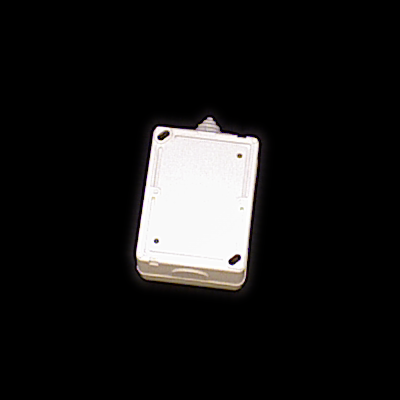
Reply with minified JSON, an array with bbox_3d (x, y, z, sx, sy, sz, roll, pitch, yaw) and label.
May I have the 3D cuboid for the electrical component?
[{"bbox_3d":[0.000,0.000,0.628,0.062,0.096,0.060,6,-18,2],"label":"electrical component"}]
